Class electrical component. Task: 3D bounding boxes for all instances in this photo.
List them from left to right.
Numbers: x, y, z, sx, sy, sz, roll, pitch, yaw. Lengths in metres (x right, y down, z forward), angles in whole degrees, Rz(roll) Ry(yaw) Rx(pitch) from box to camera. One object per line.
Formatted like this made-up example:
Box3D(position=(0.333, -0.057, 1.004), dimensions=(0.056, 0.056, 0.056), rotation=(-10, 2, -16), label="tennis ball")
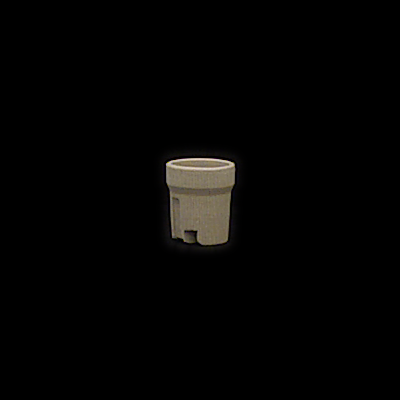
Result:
Box3D(position=(0.000, 0.000, 0.643), dimensions=(0.040, 0.046, 0.040), rotation=(1, 11, 0), label="electrical component")
